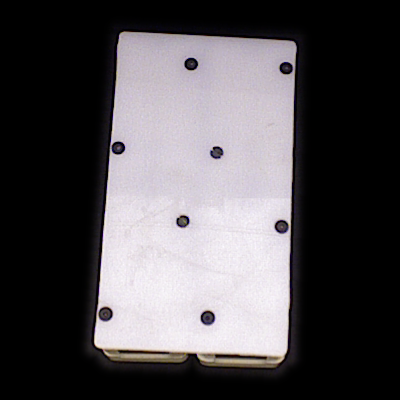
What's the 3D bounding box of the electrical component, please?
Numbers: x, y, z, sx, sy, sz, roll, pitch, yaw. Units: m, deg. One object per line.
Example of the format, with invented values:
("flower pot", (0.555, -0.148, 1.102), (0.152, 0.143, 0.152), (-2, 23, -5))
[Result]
("electrical component", (0.000, 0.000, 0.625), (0.105, 0.187, 0.060), (3, -17, 0))
